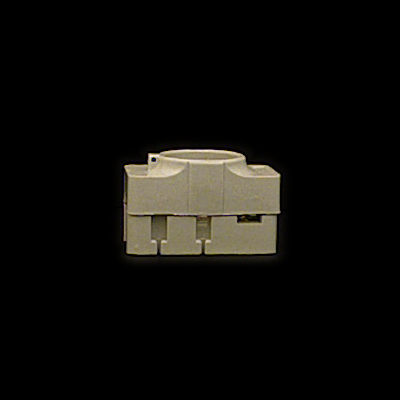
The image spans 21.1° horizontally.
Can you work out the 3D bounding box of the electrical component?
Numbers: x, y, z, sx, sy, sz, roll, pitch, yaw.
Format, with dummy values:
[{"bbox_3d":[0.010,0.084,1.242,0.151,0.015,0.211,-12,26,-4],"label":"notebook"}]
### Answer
[{"bbox_3d":[0.000,0.000,0.652,0.090,0.056,0.049,0,12,-9],"label":"electrical component"}]
